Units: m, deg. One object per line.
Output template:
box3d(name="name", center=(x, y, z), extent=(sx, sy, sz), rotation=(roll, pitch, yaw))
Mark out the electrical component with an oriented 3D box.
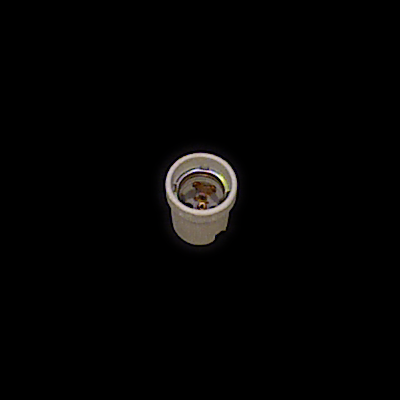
box3d(name="electrical component", center=(0.000, 0.000, 0.627), extent=(0.040, 0.040, 0.046), rotation=(0, -27, 0))
